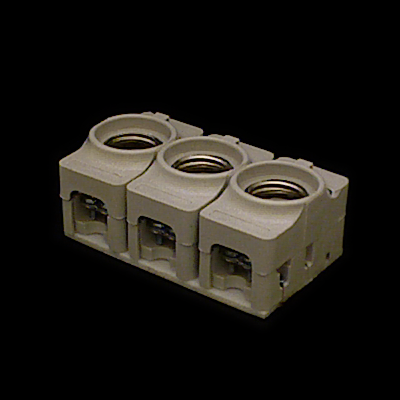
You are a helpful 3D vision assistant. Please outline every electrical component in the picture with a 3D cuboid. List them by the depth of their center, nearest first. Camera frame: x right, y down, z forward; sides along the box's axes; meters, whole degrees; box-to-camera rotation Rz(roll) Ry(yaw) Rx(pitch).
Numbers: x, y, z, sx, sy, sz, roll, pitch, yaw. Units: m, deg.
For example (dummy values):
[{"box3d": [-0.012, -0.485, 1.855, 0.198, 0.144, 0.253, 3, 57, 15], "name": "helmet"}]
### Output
[{"box3d": [0.000, 0.000, 0.642, 0.149, 0.063, 0.088, 21, 36, 29], "name": "electrical component"}]
